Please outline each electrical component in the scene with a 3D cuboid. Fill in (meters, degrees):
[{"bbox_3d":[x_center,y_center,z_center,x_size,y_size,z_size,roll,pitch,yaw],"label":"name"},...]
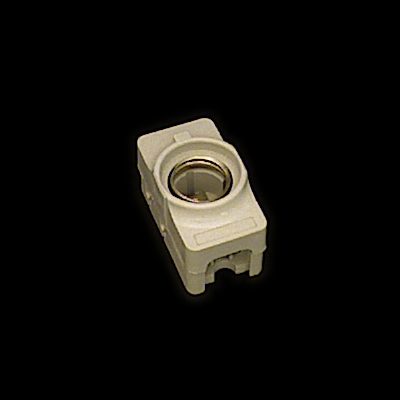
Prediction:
[{"bbox_3d":[0.000,0.000,0.637,0.050,0.089,0.056,-18,-34,-14],"label":"electrical component"}]
